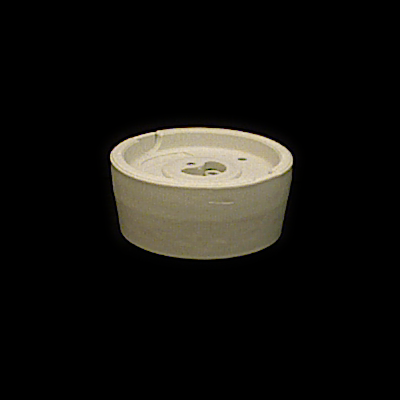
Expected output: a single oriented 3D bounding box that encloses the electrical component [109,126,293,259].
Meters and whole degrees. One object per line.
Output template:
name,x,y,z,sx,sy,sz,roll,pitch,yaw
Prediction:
electrical component,0.000,0.000,0.646,0.108,0.061,0.106,2,22,0
